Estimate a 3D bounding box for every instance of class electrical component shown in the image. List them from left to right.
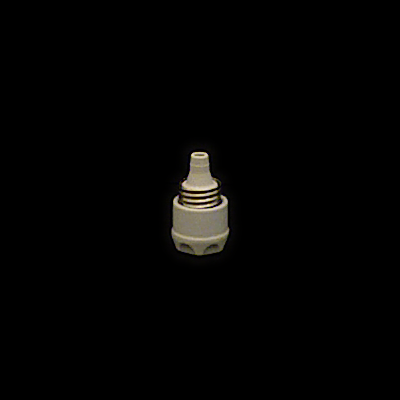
[{"bbox_3d":[0.000,0.000,0.650,0.035,0.062,0.034,-1,22,1],"label":"electrical component"}]
